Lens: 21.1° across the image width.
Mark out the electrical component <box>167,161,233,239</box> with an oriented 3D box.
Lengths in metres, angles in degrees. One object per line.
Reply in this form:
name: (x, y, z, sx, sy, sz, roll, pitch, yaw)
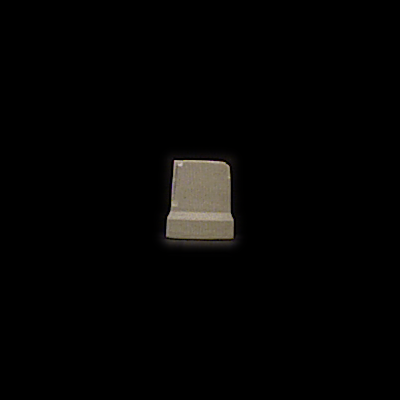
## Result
electrical component: (0.000, 0.000, 0.650, 0.040, 0.046, 0.040, 1, 2, 0)
